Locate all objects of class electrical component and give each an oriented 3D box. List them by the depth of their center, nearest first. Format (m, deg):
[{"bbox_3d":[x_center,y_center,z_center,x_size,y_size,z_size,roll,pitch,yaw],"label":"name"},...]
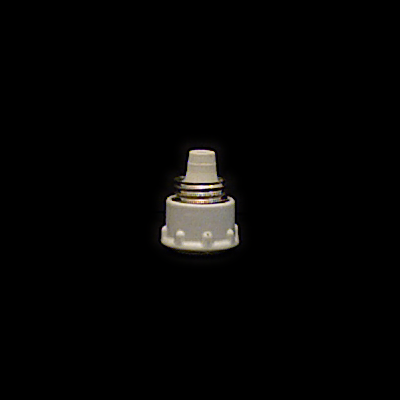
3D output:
[{"bbox_3d":[0.000,0.000,0.652,0.048,0.062,0.048,2,11,0],"label":"electrical component"}]
